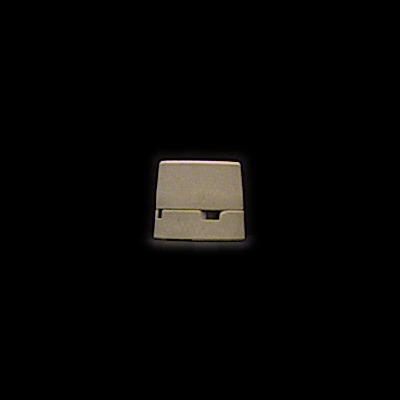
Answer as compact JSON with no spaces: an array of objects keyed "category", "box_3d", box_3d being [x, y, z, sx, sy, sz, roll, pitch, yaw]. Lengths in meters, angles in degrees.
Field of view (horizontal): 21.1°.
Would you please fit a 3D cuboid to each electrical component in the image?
[{"category":"electrical component","box_3d":[0.000,0.000,0.649,0.055,0.047,0.055,0,1,0]}]
